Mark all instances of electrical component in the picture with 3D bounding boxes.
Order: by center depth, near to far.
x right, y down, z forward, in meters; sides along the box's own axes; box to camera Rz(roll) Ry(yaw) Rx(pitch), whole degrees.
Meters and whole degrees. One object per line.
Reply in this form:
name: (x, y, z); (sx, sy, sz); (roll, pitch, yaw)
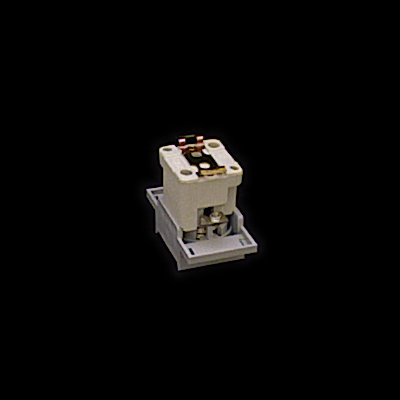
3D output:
electrical component: (0.000, 0.000, 0.633); (0.042, 0.064, 0.080); (-10, 33, -18)
